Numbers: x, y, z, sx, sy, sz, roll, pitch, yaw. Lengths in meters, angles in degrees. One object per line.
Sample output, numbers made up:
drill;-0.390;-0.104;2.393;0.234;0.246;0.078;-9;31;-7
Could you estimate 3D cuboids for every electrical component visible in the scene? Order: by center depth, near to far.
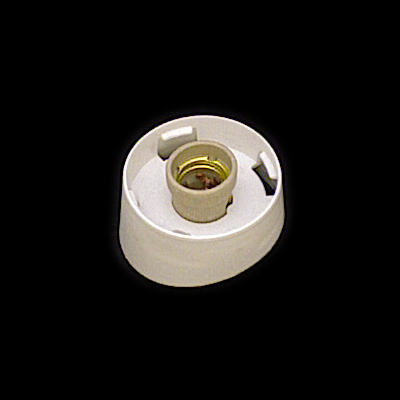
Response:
electrical component;0.000;0.000;0.627;0.099;0.098;0.064;0;-37;0
